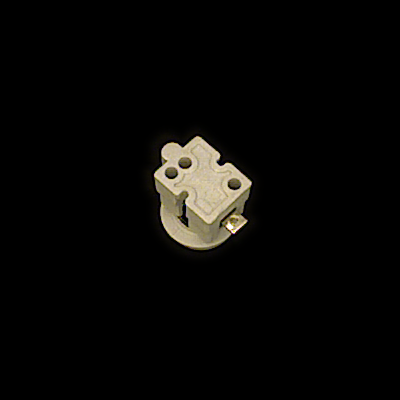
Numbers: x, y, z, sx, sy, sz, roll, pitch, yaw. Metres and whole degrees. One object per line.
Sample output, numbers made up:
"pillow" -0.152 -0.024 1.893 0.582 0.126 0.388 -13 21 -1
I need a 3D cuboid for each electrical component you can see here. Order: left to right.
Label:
"electrical component" 0.000 0.000 0.637 0.049 0.066 0.055 -42 -19 -19
